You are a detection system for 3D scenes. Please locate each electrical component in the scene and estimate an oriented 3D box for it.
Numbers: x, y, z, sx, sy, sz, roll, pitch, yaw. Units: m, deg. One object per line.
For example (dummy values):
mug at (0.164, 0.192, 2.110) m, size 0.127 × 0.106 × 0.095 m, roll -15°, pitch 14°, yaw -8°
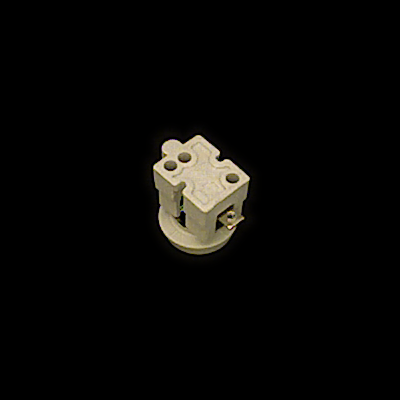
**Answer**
electrical component at (0.000, 0.000, 0.638) m, size 0.049 × 0.055 × 0.066 m, roll -36°, pitch 62°, yaw -25°
